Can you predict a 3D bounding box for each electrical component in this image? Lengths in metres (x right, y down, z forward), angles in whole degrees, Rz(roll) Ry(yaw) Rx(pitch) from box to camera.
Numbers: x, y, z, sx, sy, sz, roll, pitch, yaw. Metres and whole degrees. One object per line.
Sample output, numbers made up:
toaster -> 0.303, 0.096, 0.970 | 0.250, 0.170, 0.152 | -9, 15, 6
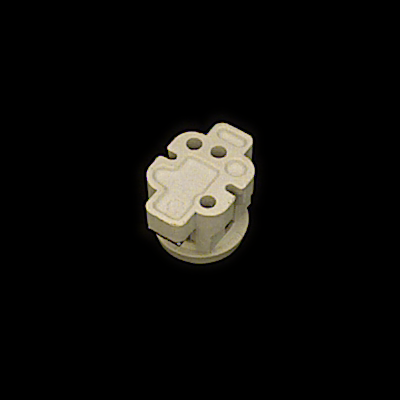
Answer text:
electrical component -> 0.000, 0.000, 0.635 | 0.057, 0.079, 0.057 | 28, -31, 18
